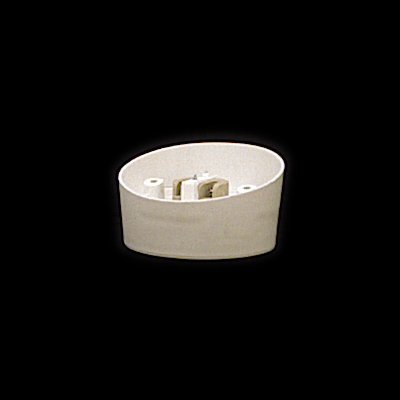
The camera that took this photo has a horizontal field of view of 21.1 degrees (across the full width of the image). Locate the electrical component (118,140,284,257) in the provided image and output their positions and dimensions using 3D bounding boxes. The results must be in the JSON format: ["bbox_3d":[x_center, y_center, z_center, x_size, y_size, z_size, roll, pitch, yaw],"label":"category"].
[{"bbox_3d":[0.000,0.000,0.645,0.099,0.064,0.098,1,9,0],"label":"electrical component"}]
